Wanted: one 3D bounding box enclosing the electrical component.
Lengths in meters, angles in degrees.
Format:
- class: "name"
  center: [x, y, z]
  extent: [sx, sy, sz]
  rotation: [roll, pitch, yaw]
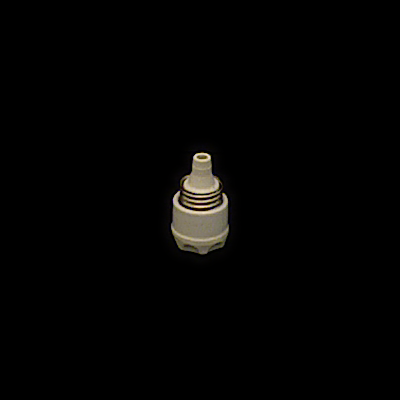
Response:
- class: "electrical component"
  center: [0.000, 0.000, 0.647]
  extent: [0.035, 0.062, 0.034]
  rotation: [2, 32, -1]
